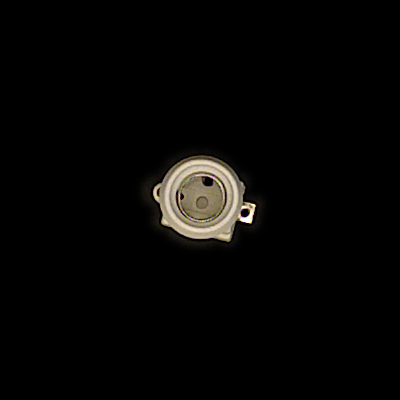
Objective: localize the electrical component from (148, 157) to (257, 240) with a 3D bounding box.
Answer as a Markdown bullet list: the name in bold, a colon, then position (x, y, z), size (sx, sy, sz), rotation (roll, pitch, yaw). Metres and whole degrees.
- **electrical component**: position (0.000, 0.000, 0.639), size (0.066, 0.048, 0.055), rotation (13, -4, 2)
